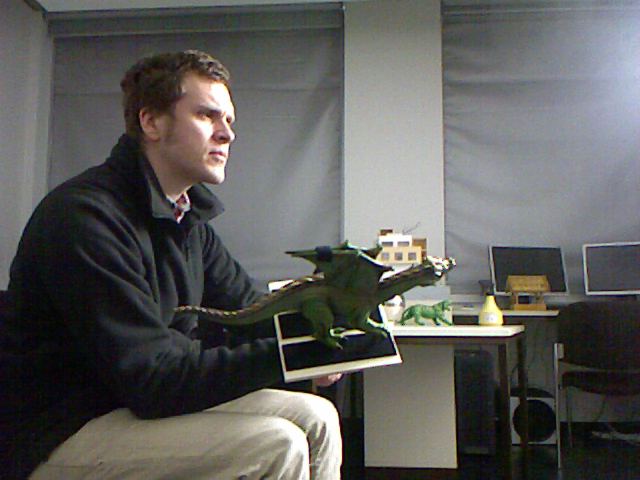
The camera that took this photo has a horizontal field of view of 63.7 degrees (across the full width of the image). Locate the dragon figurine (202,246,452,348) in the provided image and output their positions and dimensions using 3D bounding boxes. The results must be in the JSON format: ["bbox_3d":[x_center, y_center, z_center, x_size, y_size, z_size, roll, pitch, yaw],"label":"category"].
[{"bbox_3d":[0.012,0.072,0.829,0.412,0.125,0.238,-3,-36,-9],"label":"dragon figurine"}]
